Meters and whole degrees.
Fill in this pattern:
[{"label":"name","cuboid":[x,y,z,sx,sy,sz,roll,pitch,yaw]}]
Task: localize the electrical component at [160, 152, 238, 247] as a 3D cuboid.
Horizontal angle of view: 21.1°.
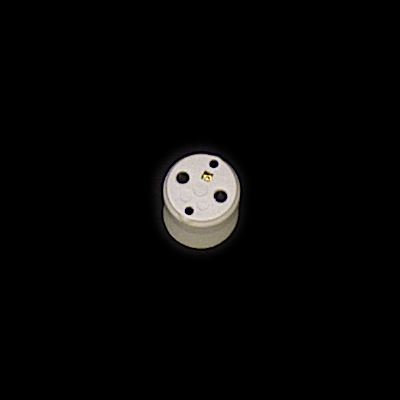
[{"label":"electrical component","cuboid":[0.000,0.000,0.628,0.045,0.045,0.055,0,-16,0]}]
